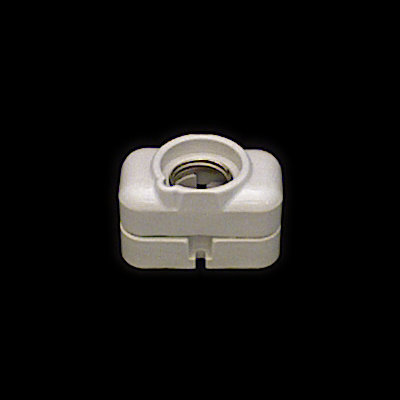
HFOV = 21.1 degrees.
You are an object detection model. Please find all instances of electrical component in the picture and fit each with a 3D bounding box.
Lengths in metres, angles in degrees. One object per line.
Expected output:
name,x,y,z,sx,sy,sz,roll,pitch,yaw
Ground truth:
electrical component,0.000,0.000,0.637,0.095,0.060,0.053,0,42,0
